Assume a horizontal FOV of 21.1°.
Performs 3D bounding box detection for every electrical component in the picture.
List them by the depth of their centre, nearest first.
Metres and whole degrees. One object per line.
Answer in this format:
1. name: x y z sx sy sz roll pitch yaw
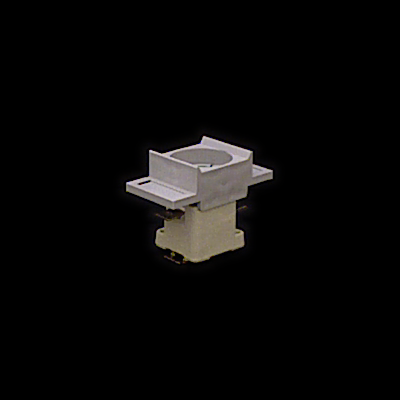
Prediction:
1. electrical component: 0.000 0.000 0.640 0.080 0.064 0.042 -18 27 -39
